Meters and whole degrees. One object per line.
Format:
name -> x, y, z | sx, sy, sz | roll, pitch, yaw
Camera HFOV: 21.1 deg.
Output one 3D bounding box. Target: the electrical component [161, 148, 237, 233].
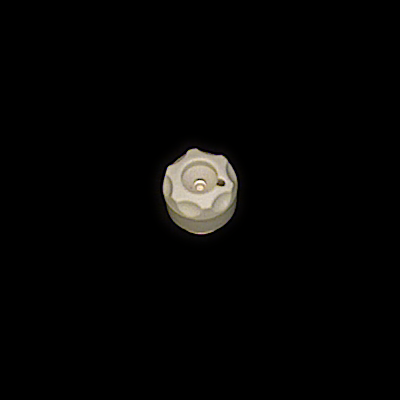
electrical component -> 0.000, 0.000, 0.634 | 0.043, 0.043, 0.062 | 0, -26, 1
